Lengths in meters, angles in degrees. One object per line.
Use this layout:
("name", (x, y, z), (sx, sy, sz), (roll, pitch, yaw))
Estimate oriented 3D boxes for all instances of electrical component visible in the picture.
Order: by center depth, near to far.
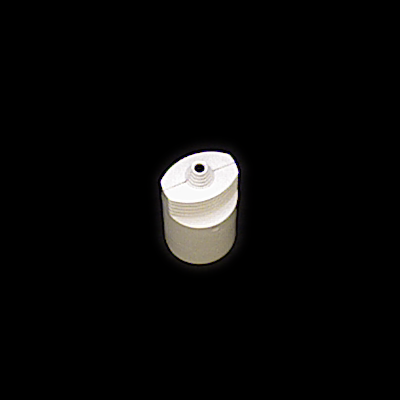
("electrical component", (0.000, 0.000, 0.617), (0.043, 0.043, 0.081), (0, -27, 0))
